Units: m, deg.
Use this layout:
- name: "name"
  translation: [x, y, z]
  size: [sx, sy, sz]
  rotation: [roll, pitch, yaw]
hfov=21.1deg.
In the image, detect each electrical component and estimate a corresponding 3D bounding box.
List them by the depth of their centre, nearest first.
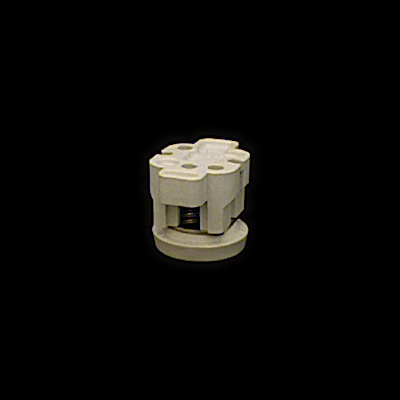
- name: "electrical component"
  translation: [0.000, 0.000, 0.648]
  size: [0.057, 0.057, 0.078]
  rotation: [7, 21, 17]
